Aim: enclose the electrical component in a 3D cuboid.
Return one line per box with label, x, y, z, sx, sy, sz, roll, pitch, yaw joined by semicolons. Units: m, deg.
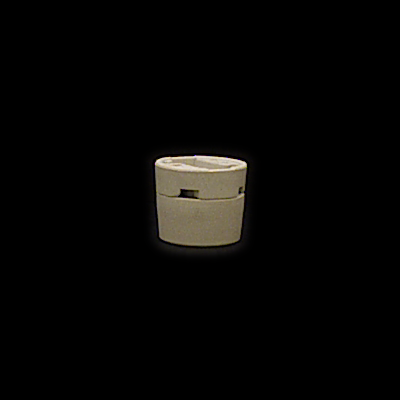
electrical component;0.000;0.000;0.645;0.055;0.047;0.055;1;11;0
